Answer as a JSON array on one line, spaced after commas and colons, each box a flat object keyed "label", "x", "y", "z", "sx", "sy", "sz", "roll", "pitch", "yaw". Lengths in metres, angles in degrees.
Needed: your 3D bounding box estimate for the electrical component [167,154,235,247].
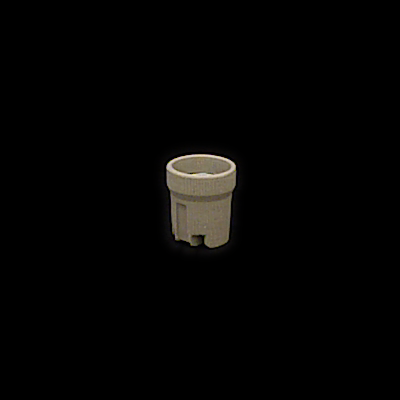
[{"label": "electrical component", "x": 0.000, "y": 0.000, "z": 0.638, "sx": 0.040, "sy": 0.047, "sz": 0.039, "roll": 1, "pitch": 21, "yaw": 0}]
